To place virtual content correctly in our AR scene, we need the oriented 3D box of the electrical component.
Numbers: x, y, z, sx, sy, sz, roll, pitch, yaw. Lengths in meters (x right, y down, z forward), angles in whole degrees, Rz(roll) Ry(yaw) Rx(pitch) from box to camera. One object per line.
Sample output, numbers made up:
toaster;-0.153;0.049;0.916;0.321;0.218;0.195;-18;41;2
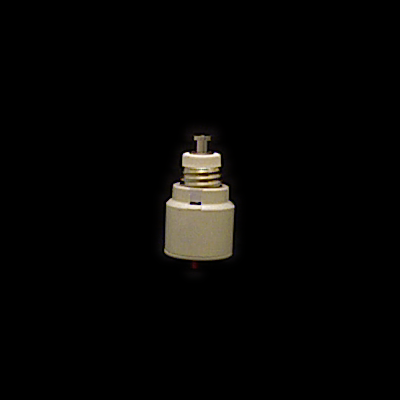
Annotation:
electrical component;0.000;0.000;0.642;0.040;0.079;0.040;2;11;0
